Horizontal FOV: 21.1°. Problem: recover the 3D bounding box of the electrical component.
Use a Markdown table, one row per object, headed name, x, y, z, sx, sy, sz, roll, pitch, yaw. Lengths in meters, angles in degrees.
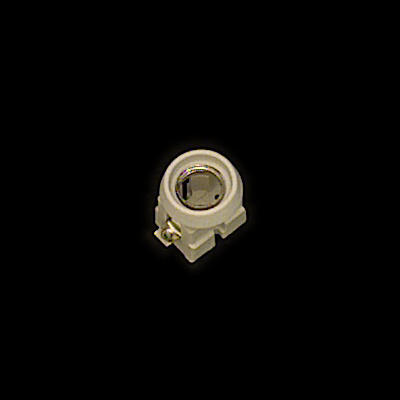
| name | x | y | z | sx | sy | sz | roll | pitch | yaw |
| --- | --- | --- | --- | --- | --- | --- | --- | --- | --- |
| electrical component | 0.000 | 0.000 | 0.636 | 0.067 | 0.048 | 0.055 | -39 | -23 | -17 |
